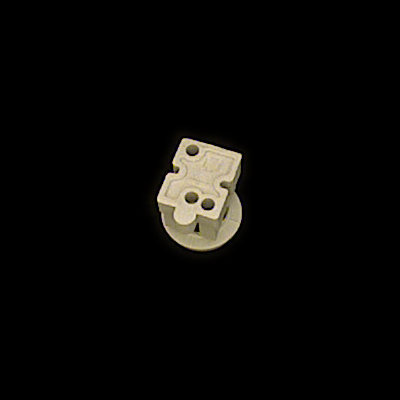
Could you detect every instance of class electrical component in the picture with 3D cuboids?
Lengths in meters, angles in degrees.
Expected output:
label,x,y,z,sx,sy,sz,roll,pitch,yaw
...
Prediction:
label,x,y,z,sx,sy,sz,roll,pitch,yaw
electrical component,0.000,0.000,0.637,0.048,0.067,0.055,17,-26,10
